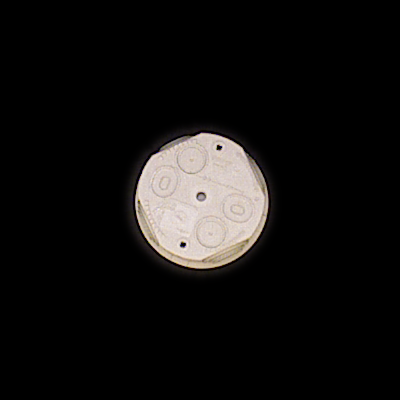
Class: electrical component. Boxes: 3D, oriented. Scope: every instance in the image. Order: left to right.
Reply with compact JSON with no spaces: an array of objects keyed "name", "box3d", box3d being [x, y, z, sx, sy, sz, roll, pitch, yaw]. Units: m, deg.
[{"name":"electrical component","box3d":[0.000,0.000,0.633,0.080,0.080,0.050,0,-6,1]}]
